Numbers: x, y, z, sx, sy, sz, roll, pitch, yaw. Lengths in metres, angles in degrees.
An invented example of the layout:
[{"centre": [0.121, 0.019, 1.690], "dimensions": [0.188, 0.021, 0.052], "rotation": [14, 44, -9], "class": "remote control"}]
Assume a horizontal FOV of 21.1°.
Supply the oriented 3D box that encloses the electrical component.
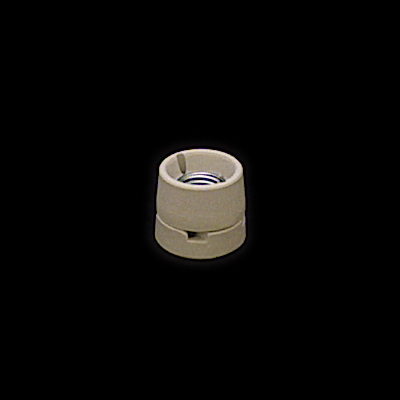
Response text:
[{"centre": [0.000, 0.000, 0.639], "dimensions": [0.055, 0.047, 0.055], "rotation": [1, 30, 0], "class": "electrical component"}]
